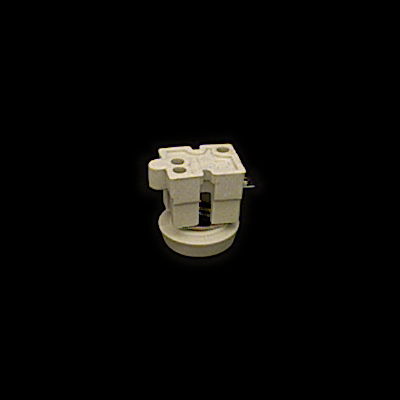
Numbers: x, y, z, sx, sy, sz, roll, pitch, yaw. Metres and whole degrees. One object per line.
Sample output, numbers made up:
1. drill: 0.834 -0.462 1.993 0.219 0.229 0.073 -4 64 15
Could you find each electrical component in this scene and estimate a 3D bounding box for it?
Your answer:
1. electrical component: 0.000 0.000 0.642 0.067 0.056 0.048 -6 32 -12
